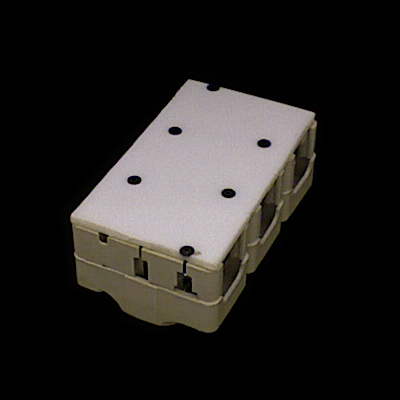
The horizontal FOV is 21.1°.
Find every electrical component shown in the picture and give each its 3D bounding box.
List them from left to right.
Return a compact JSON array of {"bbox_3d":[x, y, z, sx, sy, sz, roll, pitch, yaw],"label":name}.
[{"bbox_3d":[0.000,0.000,0.639,0.089,0.063,0.147,19,44,19],"label":"electrical component"}]
